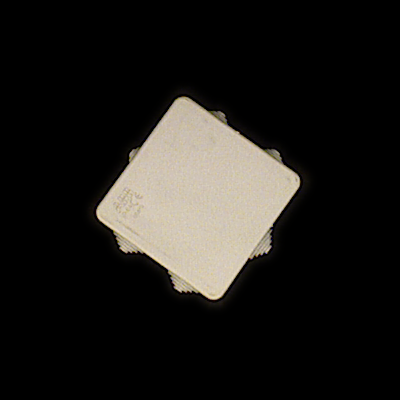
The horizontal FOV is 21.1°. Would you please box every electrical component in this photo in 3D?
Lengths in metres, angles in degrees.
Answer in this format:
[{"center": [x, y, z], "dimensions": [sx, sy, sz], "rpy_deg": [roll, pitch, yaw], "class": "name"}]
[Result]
[{"center": [0.000, 0.000, 0.642], "dimensions": [0.100, 0.100, 0.048], "rpy_deg": [36, -5, 3], "class": "electrical component"}]
